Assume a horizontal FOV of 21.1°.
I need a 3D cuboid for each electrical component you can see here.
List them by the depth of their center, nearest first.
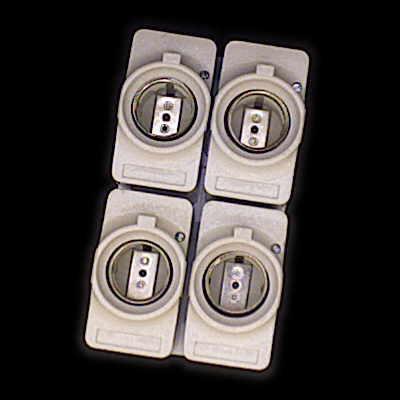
[{"bbox_3d":[0.000,0.000,0.626,0.105,0.187,0.060,8,-7,1],"label":"electrical component"}]
